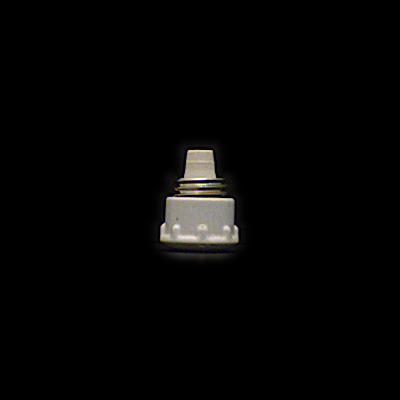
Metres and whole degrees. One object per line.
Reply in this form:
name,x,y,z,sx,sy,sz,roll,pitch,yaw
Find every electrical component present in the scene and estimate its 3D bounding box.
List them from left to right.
electrical component,0.000,0.000,0.654,0.048,0.062,0.048,0,2,0
